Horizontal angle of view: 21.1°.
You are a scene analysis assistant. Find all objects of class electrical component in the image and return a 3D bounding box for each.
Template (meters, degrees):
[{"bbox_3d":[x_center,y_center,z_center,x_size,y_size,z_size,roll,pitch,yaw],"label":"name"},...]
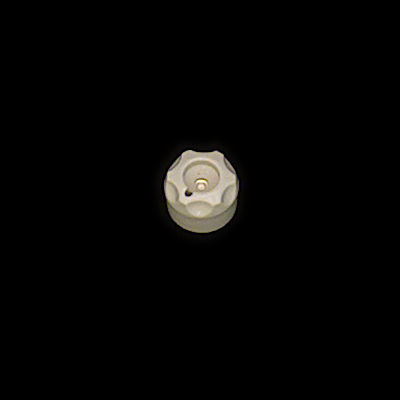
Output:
[{"bbox_3d":[0.000,0.000,0.634,0.043,0.043,0.062,0,-27,0],"label":"electrical component"}]
